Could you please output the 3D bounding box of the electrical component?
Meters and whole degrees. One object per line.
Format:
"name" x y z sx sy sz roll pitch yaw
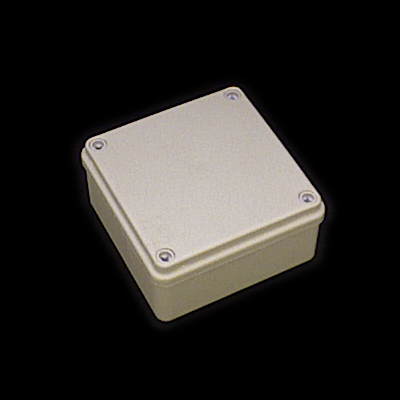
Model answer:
"electrical component" 0.000 0.000 0.631 0.109 0.108 0.056 -22 -35 -17
